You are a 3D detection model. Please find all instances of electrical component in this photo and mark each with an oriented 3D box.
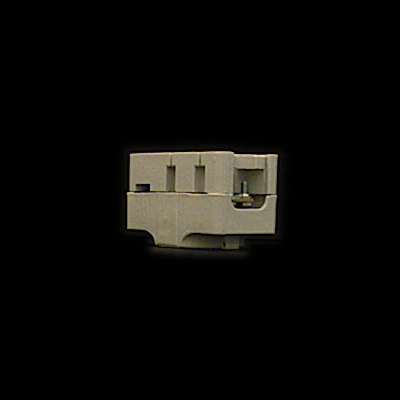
[{"bbox_3d":[0.000,0.000,0.657,0.050,0.056,0.088,1,2,-41],"label":"electrical component"}]
